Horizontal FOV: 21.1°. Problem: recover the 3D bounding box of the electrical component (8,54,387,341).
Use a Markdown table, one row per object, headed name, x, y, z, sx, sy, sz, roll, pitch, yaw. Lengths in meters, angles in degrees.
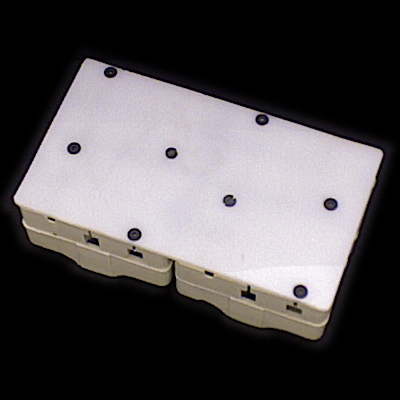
| name | x | y | z | sx | sy | sz | roll | pitch | yaw |
| --- | --- | --- | --- | --- | --- | --- | --- | --- | --- |
| electrical component | 0.000 | 0.000 | 0.626 | 0.186 | 0.106 | 0.060 | 18 | -25 | 9 |
